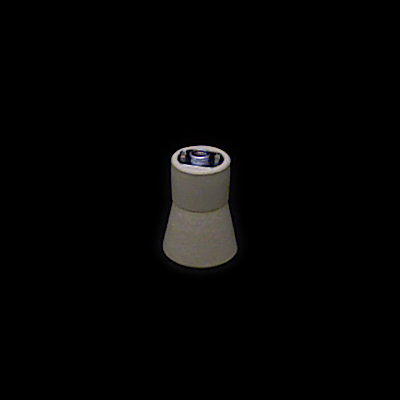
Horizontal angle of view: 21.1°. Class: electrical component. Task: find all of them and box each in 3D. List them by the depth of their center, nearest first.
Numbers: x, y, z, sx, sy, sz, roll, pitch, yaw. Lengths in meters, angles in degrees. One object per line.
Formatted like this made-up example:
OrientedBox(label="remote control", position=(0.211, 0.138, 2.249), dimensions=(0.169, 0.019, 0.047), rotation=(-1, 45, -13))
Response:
OrientedBox(label="electrical component", position=(0.000, 0.000, 0.634), dimensions=(0.044, 0.066, 0.044), rotation=(1, 30, 0))
